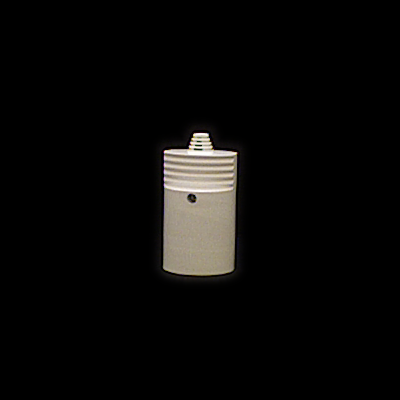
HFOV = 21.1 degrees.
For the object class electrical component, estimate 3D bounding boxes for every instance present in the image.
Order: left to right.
[{"bbox_3d":[0.000,0.000,0.642,0.043,0.081,0.043,1,11,0],"label":"electrical component"}]
